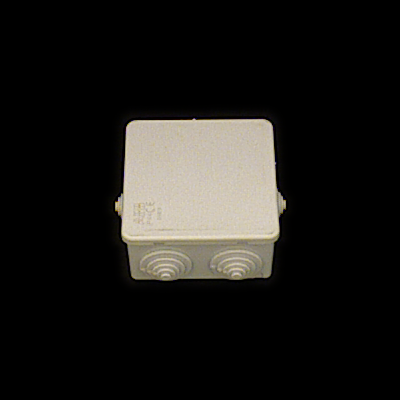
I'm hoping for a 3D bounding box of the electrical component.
[{"bbox_3d":[0.000,0.000,0.639,0.100,0.099,0.048,0,-37,-1],"label":"electrical component"}]
